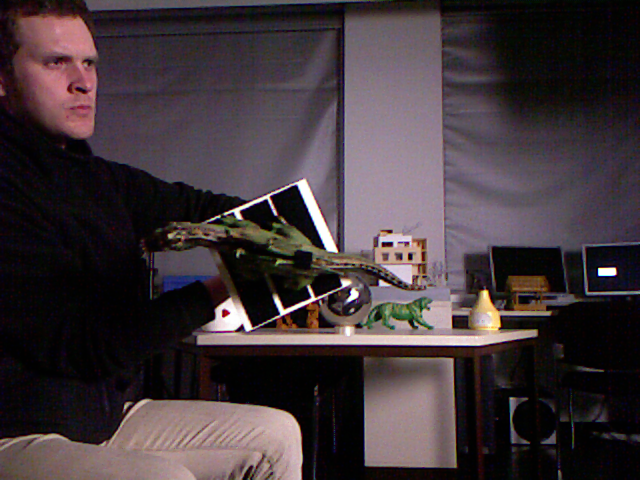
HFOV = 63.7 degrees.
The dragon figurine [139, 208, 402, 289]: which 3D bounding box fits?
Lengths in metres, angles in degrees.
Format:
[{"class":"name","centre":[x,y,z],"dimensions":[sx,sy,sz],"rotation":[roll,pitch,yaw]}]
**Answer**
[{"class":"dragon figurine","centre":[-0.051,0.026,0.769],"dimensions":[0.412,0.123,0.244],"rotation":[8,1,-5]}]
